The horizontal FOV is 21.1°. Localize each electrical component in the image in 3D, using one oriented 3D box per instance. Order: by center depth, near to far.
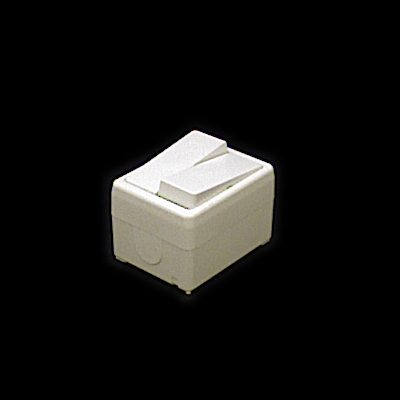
[{"bbox_3d":[0.000,0.000,0.636,0.061,0.061,0.096,24,38,33],"label":"electrical component"}]
